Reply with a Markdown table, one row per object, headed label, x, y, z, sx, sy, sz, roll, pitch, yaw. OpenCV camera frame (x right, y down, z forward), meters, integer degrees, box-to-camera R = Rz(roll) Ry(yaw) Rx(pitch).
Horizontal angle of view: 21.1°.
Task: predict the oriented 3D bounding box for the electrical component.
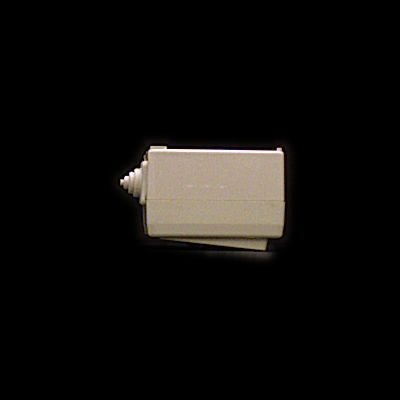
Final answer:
| label | x | y | z | sx | sy | sz | roll | pitch | yaw |
| --- | --- | --- | --- | --- | --- | --- | --- | --- | --- |
| electrical component | 0.000 | 0.000 | 0.652 | 0.096 | 0.061 | 0.061 | 1 | 1 | -6 |
